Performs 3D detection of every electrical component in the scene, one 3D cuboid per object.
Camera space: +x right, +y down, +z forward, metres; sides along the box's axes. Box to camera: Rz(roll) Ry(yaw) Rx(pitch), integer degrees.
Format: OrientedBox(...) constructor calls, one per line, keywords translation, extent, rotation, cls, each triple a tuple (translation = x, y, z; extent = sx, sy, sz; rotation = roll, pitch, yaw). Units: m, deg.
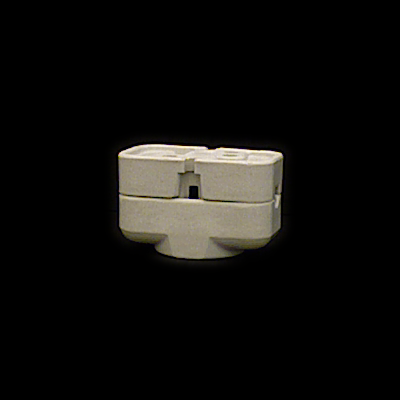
OrientedBox(translation=(0.000, 0.000, 0.654), extent=(0.095, 0.060, 0.053), rotation=(4, 12, 14), cls="electrical component")
